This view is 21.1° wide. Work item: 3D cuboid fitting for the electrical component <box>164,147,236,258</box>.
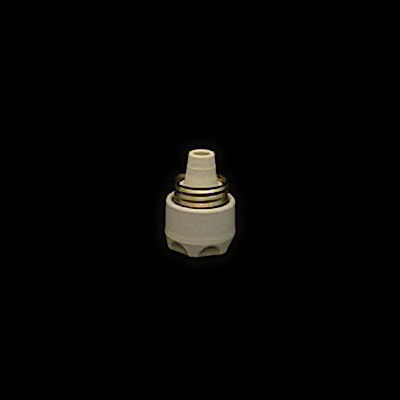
[{"bbox_3d":[0.000,0.000,0.647,0.043,0.063,0.043,2,21,0],"label":"electrical component"}]
